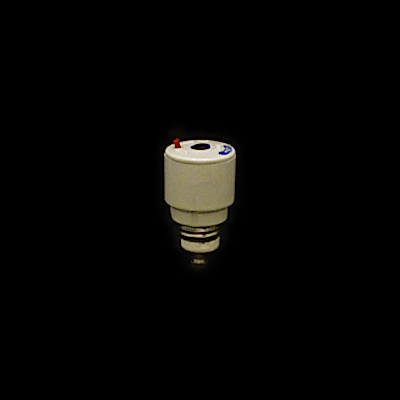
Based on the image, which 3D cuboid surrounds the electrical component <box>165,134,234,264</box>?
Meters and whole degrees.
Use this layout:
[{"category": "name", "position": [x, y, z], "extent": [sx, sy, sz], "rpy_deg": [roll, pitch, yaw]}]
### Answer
[{"category": "electrical component", "position": [0.000, 0.000, 0.636], "extent": [0.040, 0.079, 0.039], "rpy_deg": [0, 21, 0]}]
